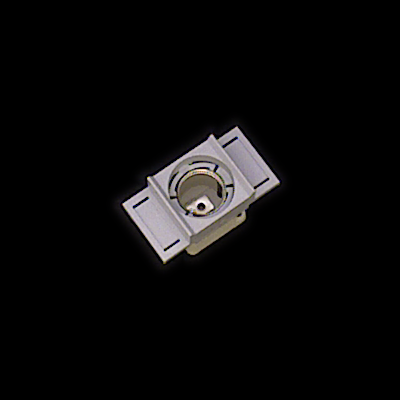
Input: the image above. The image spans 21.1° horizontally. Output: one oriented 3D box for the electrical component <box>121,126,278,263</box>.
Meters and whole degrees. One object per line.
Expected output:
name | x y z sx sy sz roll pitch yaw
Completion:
electrical component | 0.000 0.000 0.623 0.081 0.042 0.063 -34 -13 -10
